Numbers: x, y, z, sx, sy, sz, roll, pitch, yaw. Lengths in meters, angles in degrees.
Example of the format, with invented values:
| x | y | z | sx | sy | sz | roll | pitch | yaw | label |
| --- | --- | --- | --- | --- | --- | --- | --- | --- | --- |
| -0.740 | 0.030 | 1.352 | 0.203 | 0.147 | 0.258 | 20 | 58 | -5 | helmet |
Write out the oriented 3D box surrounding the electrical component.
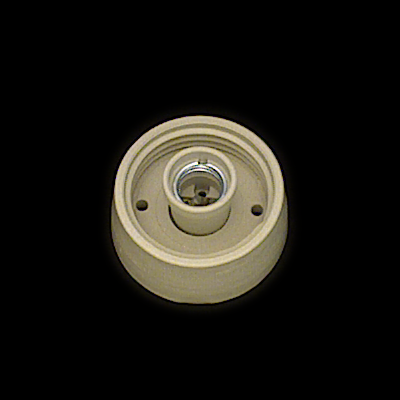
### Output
| x | y | z | sx | sy | sz | roll | pitch | yaw | label |
| --- | --- | --- | --- | --- | --- | --- | --- | --- | --- |
| 0.000 | 0.000 | 0.633 | 0.108 | 0.108 | 0.060 | 0 | -27 | -1 | electrical component |
